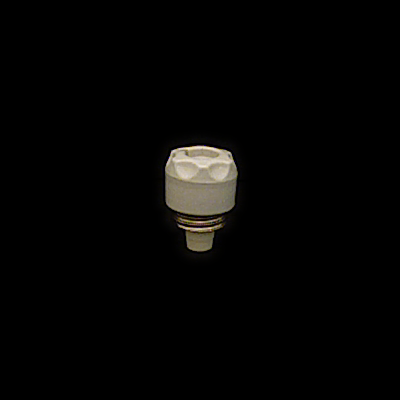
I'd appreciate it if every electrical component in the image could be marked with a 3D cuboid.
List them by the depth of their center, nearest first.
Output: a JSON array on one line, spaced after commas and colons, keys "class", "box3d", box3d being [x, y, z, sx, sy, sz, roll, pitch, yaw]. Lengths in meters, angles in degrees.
[{"class": "electrical component", "box3d": [0.000, 0.000, 0.646, 0.043, 0.063, 0.043, 2, 22, 0]}]
